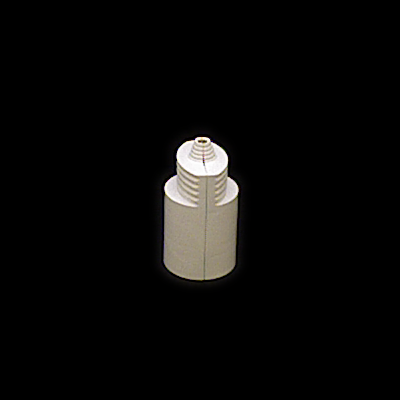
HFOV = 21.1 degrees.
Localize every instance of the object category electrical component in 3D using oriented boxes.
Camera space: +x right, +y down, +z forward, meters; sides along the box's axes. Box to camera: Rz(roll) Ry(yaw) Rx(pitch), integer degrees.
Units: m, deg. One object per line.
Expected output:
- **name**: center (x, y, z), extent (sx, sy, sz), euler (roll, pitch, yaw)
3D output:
- **electrical component**: center (0.000, 0.000, 0.628), extent (0.043, 0.082, 0.042), euler (1, 31, 0)
